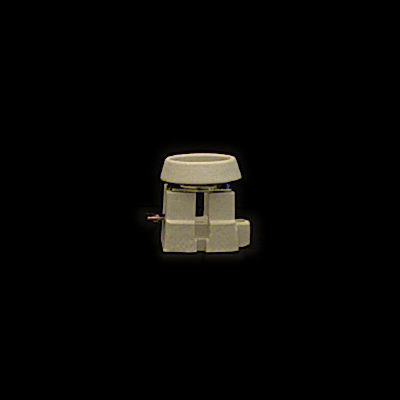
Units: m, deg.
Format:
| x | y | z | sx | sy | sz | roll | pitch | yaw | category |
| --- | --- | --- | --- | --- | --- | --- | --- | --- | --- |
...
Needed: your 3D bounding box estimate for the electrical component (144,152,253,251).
| x | y | z | sx | sy | sz | roll | pitch | yaw | category |
| --- | --- | --- | --- | --- | --- | --- | --- | --- | --- |
| 0.000 | 0.000 | 0.650 | 0.067 | 0.056 | 0.048 | 0 | 10 | -7 | electrical component |
